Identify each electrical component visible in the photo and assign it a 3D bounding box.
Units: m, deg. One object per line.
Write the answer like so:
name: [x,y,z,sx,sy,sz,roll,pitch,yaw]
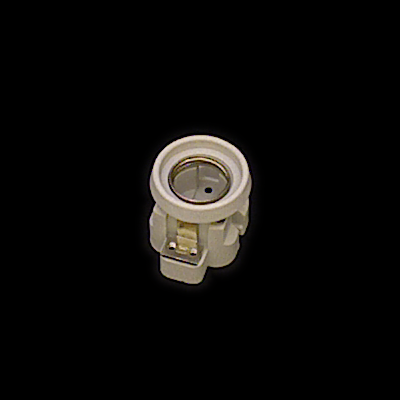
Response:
electrical component: [0.000,0.000,0.628,0.058,0.078,0.057,15,-36,10]
